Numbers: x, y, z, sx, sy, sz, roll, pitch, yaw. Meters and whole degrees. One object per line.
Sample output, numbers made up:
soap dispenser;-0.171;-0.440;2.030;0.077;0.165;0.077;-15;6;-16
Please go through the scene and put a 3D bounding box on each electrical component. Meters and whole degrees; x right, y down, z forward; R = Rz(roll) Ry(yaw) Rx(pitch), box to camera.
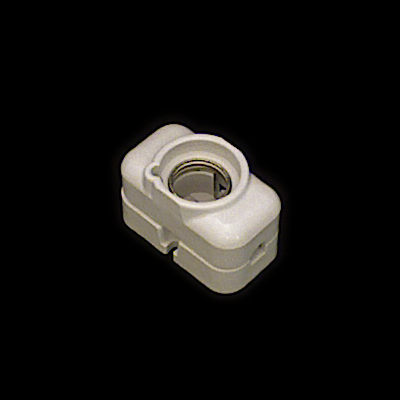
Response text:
electrical component;0.000;0.000;0.635;0.094;0.059;0.054;36;60;24
